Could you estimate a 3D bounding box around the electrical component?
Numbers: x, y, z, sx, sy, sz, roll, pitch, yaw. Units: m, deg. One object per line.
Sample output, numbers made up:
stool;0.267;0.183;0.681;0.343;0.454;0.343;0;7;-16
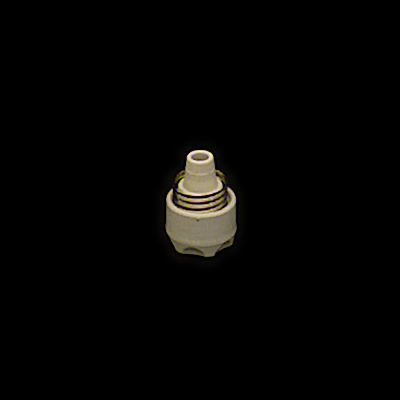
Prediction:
electrical component;0.000;0.000;0.641;0.043;0.063;0.043;0;33;1
